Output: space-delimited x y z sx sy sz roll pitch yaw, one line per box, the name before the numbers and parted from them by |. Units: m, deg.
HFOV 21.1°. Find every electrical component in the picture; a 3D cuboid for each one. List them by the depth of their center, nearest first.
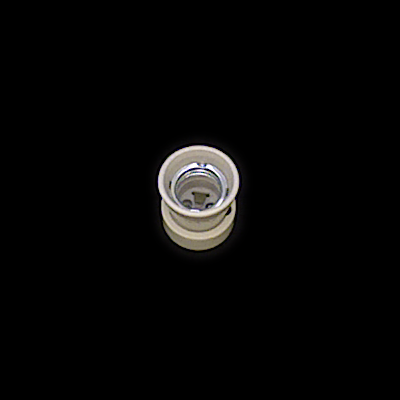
electrical component | 0.000 0.000 0.627 0.045 0.045 0.055 0 -26 0
